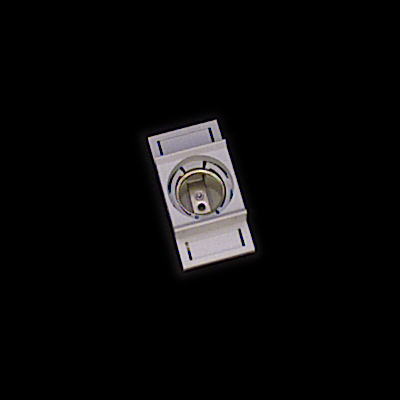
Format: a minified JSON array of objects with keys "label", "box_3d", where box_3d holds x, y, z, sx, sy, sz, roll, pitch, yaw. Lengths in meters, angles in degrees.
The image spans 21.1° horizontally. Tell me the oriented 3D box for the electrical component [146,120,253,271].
[{"label":"electrical component","box_3d":[0.000,0.000,0.624,0.042,0.081,0.063,-15,-16,-3]}]
